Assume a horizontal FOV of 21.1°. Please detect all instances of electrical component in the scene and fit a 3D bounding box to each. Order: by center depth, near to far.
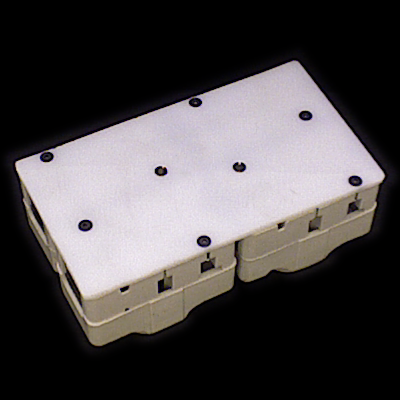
[{"bbox_3d":[0.000,0.000,0.627,0.186,0.105,0.060,-21,-34,-17],"label":"electrical component"}]
